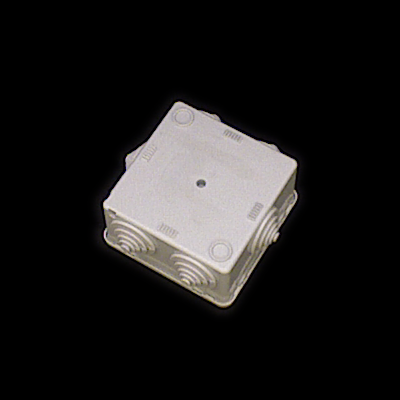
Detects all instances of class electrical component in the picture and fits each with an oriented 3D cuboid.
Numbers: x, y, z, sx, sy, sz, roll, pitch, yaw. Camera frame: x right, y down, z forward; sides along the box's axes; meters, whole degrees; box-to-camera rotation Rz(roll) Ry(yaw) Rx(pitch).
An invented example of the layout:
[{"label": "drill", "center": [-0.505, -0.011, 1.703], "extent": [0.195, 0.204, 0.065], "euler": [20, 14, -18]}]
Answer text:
[{"label": "electrical component", "center": [0.000, 0.000, 0.631], "extent": [0.099, 0.100, 0.048], "euler": [28, -24, 13]}]
